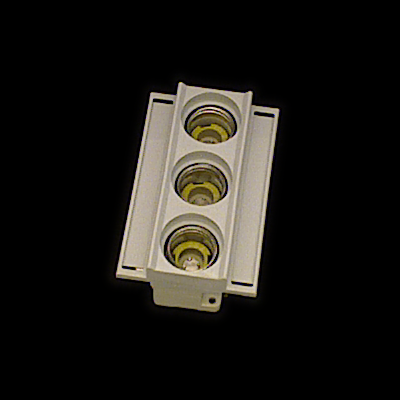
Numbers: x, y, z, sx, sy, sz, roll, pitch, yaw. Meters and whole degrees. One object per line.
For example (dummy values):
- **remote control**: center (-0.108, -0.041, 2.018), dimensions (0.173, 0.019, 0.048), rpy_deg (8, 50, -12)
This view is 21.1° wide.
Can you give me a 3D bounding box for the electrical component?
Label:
- **electrical component**: center (0.000, 0.000, 0.638), dimensions (0.079, 0.121, 0.063), rpy_deg (8, -26, 2)
